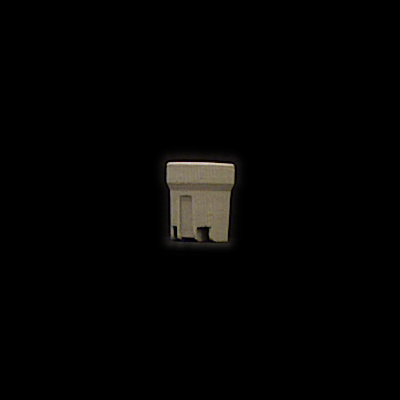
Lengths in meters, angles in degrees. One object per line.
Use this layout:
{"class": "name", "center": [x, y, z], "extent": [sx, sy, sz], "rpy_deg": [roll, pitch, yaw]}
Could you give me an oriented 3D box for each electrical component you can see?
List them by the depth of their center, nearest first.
{"class": "electrical component", "center": [0.000, 0.000, 0.647], "extent": [0.040, 0.046, 0.040], "rpy_deg": [1, 1, 1]}
